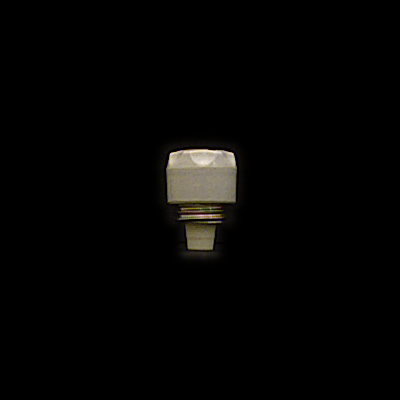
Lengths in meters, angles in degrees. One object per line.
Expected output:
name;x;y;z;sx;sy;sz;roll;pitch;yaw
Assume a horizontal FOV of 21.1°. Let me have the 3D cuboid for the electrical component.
electrical component;0.000;0.000;0.657;0.043;0.062;0.043;1;1;1
